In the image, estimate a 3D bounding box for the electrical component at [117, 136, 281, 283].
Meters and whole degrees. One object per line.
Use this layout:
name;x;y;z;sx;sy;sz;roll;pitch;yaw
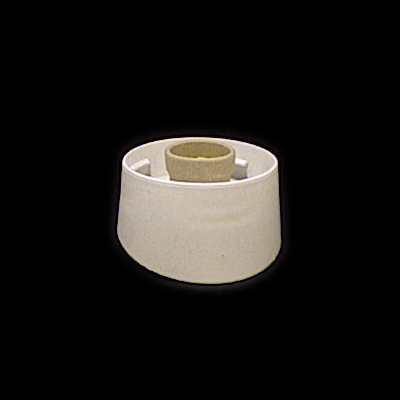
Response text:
electrical component;0.000;0.000;0.638;0.099;0.065;0.097;1;21;0
